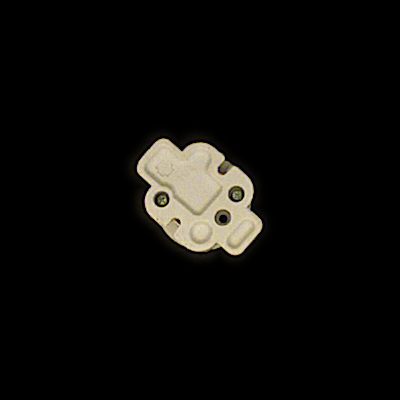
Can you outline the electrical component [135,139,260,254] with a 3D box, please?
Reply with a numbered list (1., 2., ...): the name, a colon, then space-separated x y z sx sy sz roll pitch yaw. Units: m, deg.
1. electrical component: 0.000 0.000 0.637 0.078 0.058 0.056 40 -3 5
